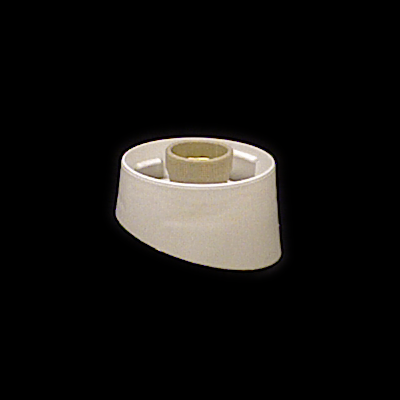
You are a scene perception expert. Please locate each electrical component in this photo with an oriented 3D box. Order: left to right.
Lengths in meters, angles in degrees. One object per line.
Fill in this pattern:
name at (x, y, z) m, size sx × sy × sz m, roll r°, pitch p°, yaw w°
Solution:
electrical component at (0.000, 0.000, 0.637) m, size 0.099 × 0.065 × 0.097 m, roll 2°, pitch 21°, yaw 0°
